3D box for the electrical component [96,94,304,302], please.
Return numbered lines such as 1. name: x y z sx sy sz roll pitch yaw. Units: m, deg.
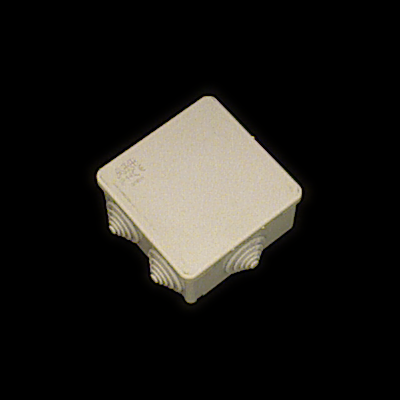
1. electrical component: 0.000 0.000 0.639 0.100 0.099 0.048 -36 -21 -17
